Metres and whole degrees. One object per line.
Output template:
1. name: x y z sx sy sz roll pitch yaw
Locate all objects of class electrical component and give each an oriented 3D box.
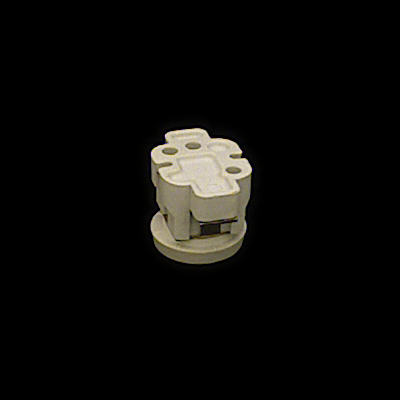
1. electrical component: 0.000 0.000 0.641 0.058 0.057 0.077 -8 35 -15
